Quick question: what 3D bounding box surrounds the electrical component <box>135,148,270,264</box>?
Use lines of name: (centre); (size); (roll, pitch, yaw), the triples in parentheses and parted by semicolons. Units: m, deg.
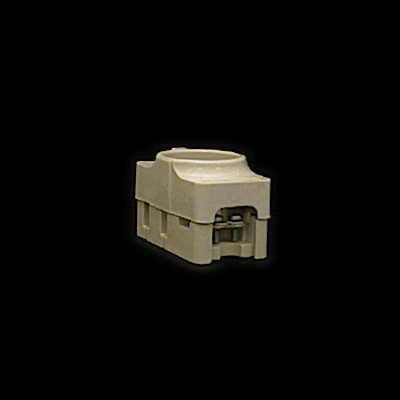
electrical component: (0.000, 0.000, 0.652); (0.050, 0.056, 0.088); (-5, 13, -28)
